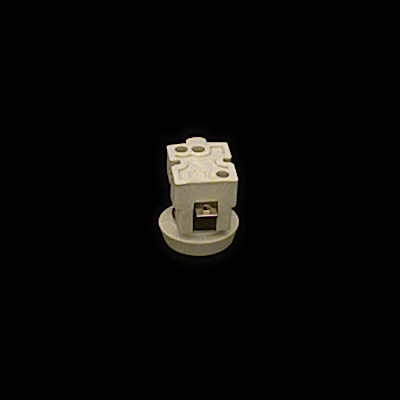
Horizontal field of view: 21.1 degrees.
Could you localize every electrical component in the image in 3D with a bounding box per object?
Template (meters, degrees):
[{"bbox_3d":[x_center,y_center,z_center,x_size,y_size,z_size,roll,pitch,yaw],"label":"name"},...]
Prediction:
[{"bbox_3d":[0.000,0.000,0.644,0.048,0.056,0.065,-3,33,-8],"label":"electrical component"}]
